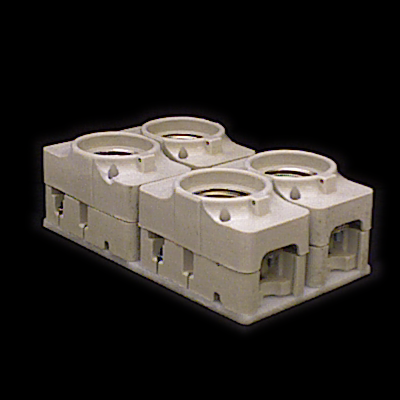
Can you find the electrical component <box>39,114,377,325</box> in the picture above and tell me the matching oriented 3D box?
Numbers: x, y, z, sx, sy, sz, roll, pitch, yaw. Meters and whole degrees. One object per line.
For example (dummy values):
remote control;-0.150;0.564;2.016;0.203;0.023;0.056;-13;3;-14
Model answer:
electrical component;0.000;0.000;0.639;0.105;0.061;0.184;-17;27;-40
